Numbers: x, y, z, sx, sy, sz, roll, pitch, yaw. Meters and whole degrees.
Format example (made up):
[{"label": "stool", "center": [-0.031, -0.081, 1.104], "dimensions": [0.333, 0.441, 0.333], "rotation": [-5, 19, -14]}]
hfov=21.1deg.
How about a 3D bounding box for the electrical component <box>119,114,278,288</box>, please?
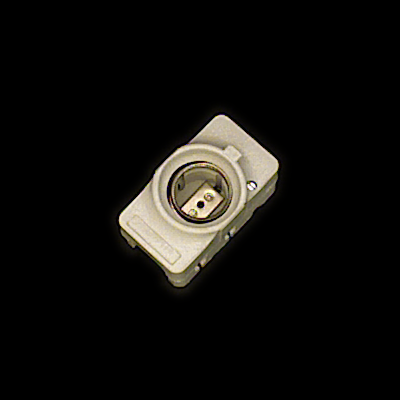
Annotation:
[{"label": "electrical component", "center": [0.000, 0.000, 0.636], "dimensions": [0.050, 0.090, 0.055], "rotation": [41, -12, 11]}]
